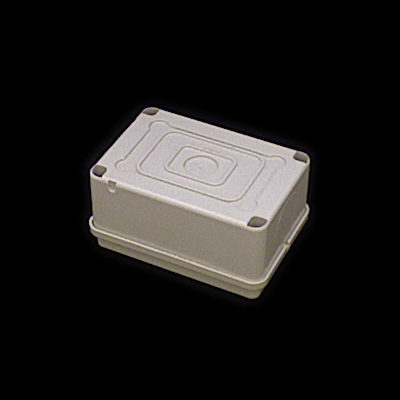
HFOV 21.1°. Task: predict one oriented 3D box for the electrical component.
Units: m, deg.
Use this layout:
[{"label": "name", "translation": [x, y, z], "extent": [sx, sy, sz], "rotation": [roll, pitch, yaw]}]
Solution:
[{"label": "electrical component", "translation": [0.000, 0.000, 0.632], "extent": [0.113, 0.057, 0.077], "rotation": [19, 45, 18]}]
